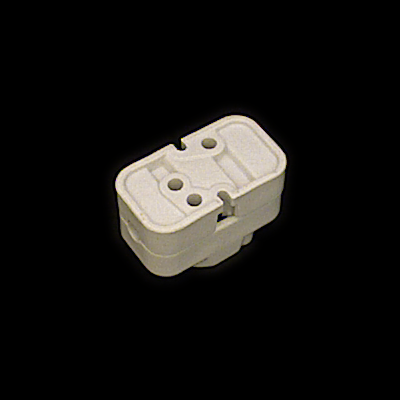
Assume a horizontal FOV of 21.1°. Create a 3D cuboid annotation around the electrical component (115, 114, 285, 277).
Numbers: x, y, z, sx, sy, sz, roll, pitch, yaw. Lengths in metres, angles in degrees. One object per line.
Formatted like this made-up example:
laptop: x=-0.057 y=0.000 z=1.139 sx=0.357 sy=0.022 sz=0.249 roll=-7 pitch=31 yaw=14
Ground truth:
electrical component: x=0.000 y=0.000 z=0.635 sx=0.095 sy=0.053 sz=0.059 roll=-28 pitch=-32 yaw=-20
